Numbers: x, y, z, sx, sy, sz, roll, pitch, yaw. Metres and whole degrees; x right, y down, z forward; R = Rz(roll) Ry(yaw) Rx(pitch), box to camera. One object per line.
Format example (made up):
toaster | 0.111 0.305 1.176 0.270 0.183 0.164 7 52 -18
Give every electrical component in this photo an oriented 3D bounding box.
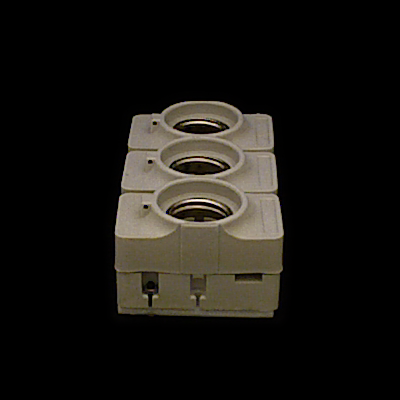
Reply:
electrical component | 0.000 0.000 0.640 0.089 0.063 0.147 0 30 0
